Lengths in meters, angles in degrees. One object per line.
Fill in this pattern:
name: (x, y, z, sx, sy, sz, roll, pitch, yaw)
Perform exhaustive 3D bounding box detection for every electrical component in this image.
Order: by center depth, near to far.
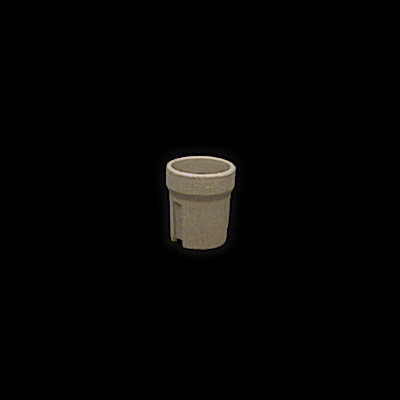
electrical component: (0.000, 0.000, 0.641, 0.040, 0.047, 0.039, 1, 21, 0)
